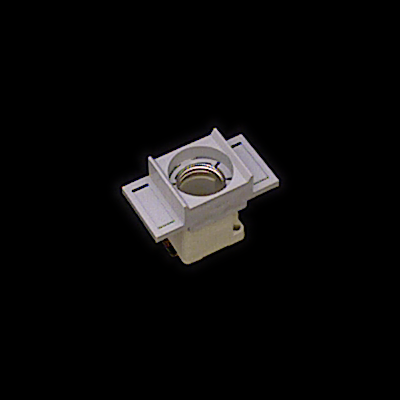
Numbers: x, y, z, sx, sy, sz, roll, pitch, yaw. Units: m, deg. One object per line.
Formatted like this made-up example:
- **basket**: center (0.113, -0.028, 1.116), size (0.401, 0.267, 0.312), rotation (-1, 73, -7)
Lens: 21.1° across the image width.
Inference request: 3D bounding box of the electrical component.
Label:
- **electrical component**: center (0.000, 0.000, 0.627), size (0.081, 0.042, 0.064), rotation (-24, -35, -18)
